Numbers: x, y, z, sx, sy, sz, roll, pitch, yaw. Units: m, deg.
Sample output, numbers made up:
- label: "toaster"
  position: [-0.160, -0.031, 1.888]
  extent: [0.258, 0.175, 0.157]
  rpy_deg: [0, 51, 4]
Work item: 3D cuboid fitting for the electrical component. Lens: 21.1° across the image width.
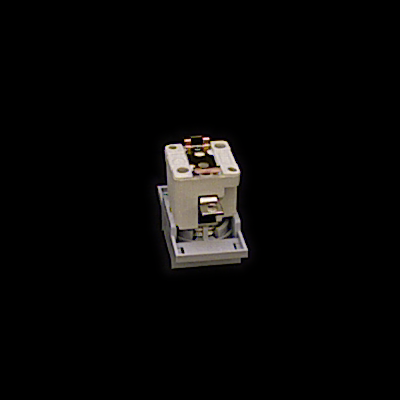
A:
- label: "electrical component"
  position: [0.000, 0.000, 0.634]
  extent: [0.042, 0.064, 0.079]
  rpy_deg: [-5, 32, -9]
